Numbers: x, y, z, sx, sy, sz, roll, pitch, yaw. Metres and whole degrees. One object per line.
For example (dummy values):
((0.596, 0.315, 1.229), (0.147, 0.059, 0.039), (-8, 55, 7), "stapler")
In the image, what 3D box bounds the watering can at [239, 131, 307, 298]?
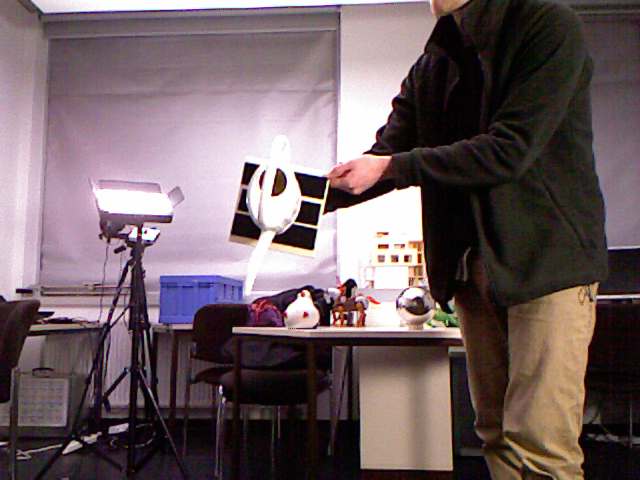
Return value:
((-0.106, -0.055, 1.104), (0.104, 0.349, 0.224), (13, -2, 8), "watering can")
